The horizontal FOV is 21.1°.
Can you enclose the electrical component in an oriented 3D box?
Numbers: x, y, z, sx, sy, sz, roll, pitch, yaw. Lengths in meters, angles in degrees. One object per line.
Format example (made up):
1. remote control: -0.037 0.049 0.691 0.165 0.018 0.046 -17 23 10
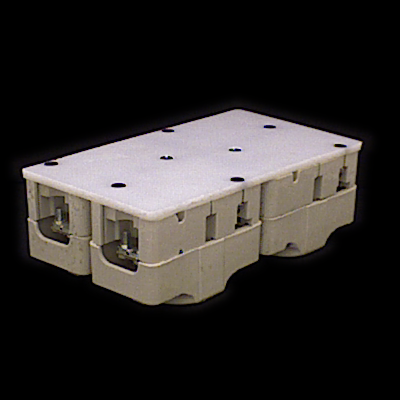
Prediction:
1. electrical component: 0.000 0.000 0.638 0.104 0.061 0.185 19 27 39
